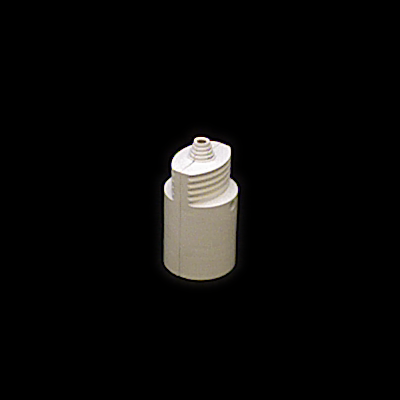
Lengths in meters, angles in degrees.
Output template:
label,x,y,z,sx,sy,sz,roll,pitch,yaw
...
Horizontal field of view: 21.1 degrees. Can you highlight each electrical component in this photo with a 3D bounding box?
label,x,y,z,sx,sy,sz,roll,pitch,yaw
electrical component,0.000,0.000,0.628,0.043,0.082,0.042,1,31,0
